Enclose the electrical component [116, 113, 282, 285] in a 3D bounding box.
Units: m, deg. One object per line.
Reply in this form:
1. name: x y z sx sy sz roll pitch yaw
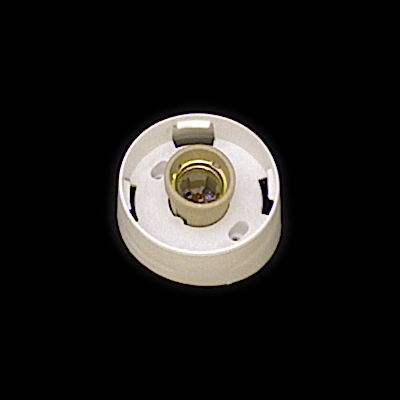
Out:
1. electrical component: 0.000 0.000 0.625 0.099 0.099 0.064 0 -27 0
